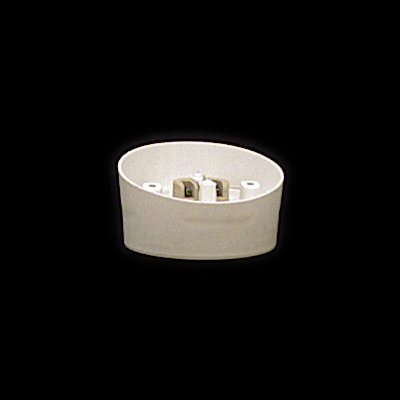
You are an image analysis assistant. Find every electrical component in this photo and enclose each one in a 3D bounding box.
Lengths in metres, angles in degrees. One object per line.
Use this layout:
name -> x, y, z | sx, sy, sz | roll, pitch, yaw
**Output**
electrical component -> 0.000, 0.000, 0.644 | 0.099, 0.064, 0.098 | 1, 10, 0
